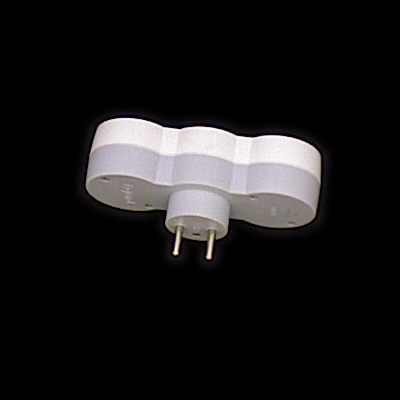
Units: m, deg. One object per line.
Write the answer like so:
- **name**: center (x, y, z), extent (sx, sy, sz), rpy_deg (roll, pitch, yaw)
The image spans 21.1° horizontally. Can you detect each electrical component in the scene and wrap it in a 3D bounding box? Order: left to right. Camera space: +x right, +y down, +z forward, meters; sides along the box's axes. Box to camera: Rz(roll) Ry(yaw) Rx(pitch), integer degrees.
- **electrical component**: center (0.000, 0.000, 0.631), extent (0.138, 0.074, 0.052), rpy_deg (7, -25, 2)
